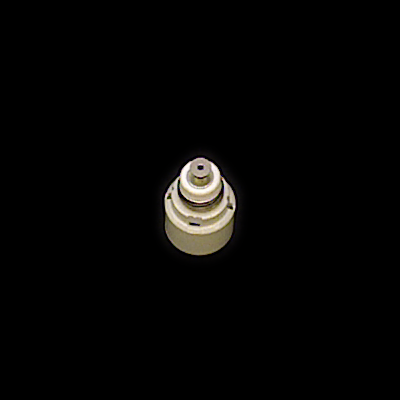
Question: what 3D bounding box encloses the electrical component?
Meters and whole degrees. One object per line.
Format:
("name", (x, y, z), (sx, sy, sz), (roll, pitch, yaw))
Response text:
("electrical component", (0.000, 0.000, 0.618), (0.040, 0.040, 0.078), (0, -28, -1))
